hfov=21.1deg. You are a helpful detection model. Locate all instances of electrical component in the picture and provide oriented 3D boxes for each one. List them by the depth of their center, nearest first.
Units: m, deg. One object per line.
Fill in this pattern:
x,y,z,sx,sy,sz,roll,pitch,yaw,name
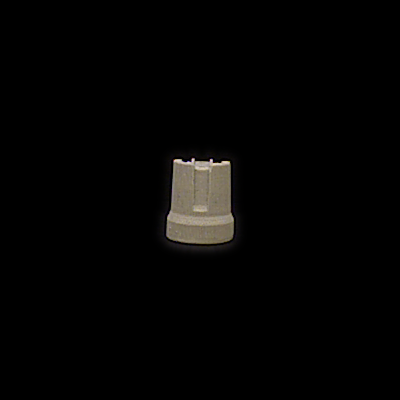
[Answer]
0.000,0.000,0.647,0.040,0.046,0.040,2,12,0,electrical component
